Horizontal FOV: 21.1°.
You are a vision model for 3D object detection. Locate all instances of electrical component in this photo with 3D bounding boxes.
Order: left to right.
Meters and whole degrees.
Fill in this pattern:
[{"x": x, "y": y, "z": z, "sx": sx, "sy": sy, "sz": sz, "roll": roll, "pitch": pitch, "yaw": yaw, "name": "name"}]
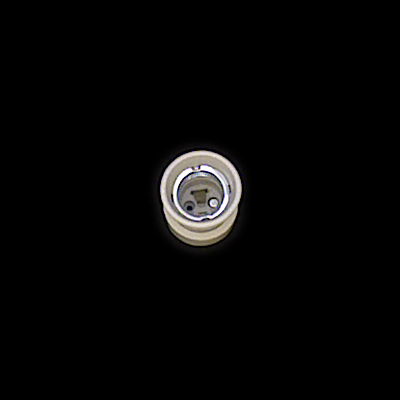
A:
[{"x": 0.000, "y": 0.000, "z": 0.627, "sx": 0.045, "sy": 0.045, "sz": 0.055, "roll": 0, "pitch": -16, "yaw": 1, "name": "electrical component"}]
